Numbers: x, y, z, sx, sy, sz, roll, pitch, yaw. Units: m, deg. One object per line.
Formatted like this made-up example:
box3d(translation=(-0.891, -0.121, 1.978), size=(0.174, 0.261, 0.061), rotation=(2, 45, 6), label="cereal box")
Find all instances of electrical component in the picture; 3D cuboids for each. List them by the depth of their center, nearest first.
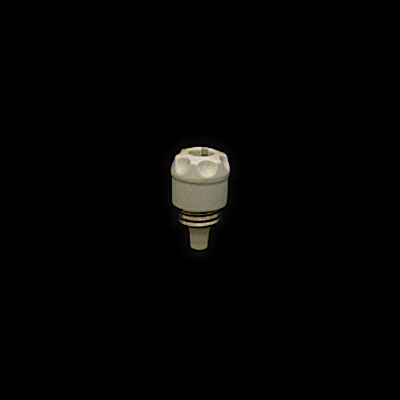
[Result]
box3d(translation=(0.000, 0.000, 0.647), size=(0.035, 0.062, 0.034), rotation=(1, 22, 0), label="electrical component")
